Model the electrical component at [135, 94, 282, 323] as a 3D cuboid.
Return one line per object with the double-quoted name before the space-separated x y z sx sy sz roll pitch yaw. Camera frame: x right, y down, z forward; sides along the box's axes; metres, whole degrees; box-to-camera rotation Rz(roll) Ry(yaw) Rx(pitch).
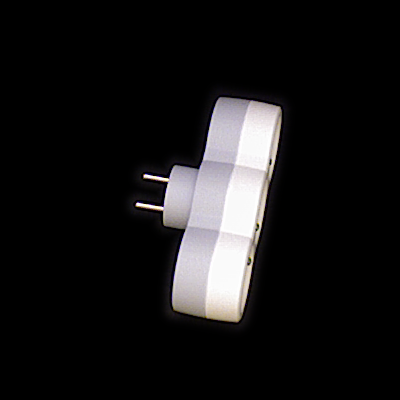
"electrical component" 0.000 0.000 0.629 0.074 0.139 0.052 10 -26 7
